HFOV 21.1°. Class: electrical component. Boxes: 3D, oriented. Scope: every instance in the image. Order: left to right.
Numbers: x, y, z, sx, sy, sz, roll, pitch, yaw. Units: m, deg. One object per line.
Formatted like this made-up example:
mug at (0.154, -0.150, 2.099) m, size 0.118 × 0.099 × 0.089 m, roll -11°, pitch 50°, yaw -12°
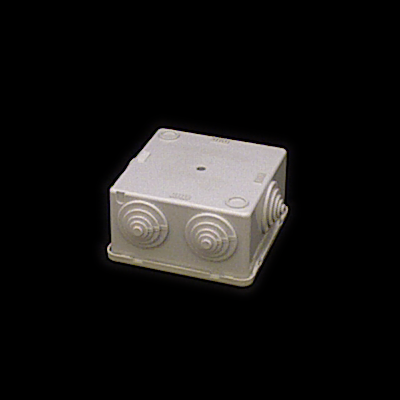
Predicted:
electrical component at (0.000, 0.000, 0.637) m, size 0.099 × 0.049 × 0.099 m, roll 11°, pitch 33°, yaw 15°
